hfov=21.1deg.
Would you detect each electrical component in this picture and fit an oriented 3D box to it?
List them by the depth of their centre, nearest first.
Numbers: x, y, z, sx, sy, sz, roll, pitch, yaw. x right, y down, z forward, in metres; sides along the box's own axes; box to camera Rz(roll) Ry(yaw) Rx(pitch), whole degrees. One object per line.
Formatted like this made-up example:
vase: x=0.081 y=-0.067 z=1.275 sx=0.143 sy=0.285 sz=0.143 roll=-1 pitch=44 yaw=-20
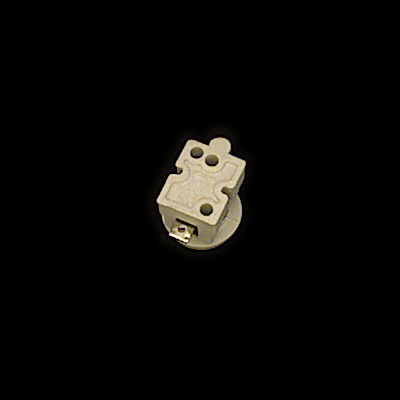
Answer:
electrical component: x=0.000 y=0.000 z=0.638 sx=0.048 sy=0.067 sz=0.055 roll=23 pitch=-23 yaw=10
